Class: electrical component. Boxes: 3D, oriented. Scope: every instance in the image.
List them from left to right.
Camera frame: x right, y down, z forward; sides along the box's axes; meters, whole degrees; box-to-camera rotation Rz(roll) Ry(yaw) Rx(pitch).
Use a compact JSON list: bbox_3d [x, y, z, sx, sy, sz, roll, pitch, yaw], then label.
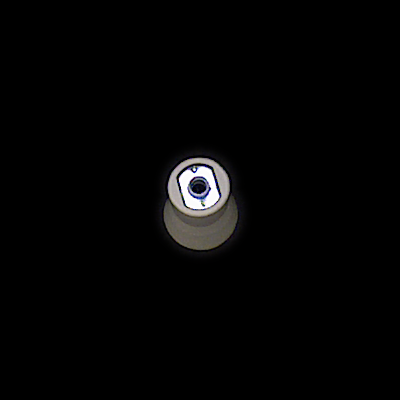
[{"bbox_3d":[0.000,0.000,0.624,0.044,0.044,0.065,0,-16,1],"label":"electrical component"}]
